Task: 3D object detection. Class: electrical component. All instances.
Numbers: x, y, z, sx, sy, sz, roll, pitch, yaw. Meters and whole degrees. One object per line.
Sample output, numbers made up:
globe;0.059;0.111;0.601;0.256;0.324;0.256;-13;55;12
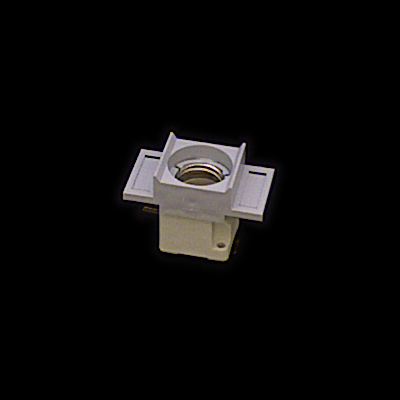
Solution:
electrical component;0.000;0.000;0.629;0.081;0.064;0.042;9;43;8
